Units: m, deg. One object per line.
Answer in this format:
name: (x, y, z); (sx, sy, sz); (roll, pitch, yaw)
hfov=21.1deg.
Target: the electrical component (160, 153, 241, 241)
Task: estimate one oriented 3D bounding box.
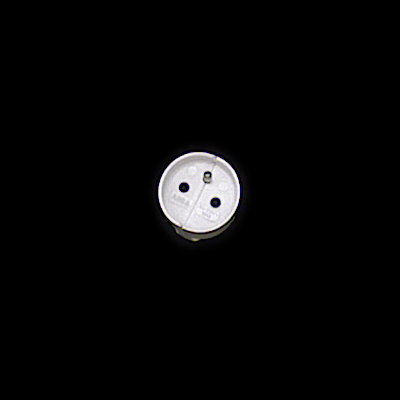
electrical component: (0.000, 0.000, 0.616); (0.043, 0.043, 0.080); (0, -6, -1)
